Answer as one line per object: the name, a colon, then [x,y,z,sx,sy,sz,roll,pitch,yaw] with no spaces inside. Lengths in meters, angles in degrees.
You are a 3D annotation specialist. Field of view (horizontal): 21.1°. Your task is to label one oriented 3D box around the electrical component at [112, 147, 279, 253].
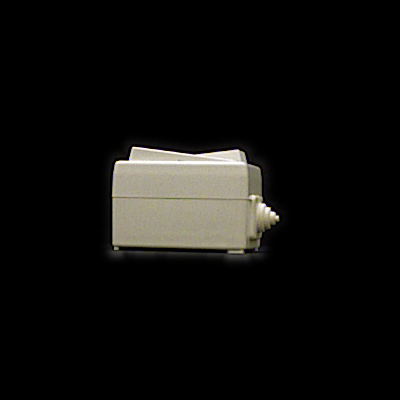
electrical component: [0.000,0.000,0.649,0.096,0.061,0.061,1,0,12]
